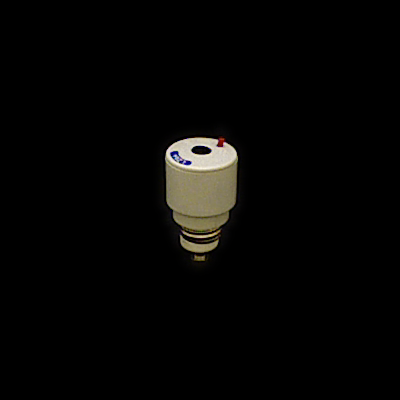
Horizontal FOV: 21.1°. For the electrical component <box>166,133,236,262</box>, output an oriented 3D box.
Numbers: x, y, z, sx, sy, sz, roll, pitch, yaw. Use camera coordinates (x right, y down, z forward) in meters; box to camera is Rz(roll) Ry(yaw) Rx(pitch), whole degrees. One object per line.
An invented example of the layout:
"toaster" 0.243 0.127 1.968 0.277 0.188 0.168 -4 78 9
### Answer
"electrical component" 0.000 0.000 0.630 0.040 0.079 0.039 1 31 -1
